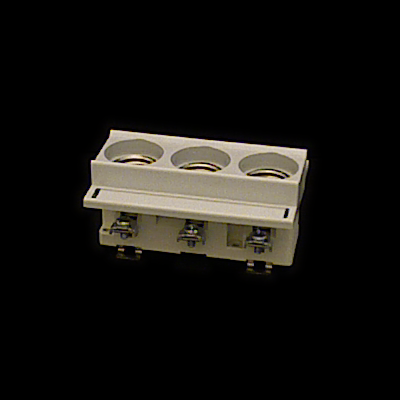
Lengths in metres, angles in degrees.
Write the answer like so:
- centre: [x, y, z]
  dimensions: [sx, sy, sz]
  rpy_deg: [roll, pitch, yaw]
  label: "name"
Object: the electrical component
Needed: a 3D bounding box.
- centre: [0.000, 0.000, 0.648]
  dimensions: [0.121, 0.064, 0.077]
  rpy_deg: [6, 31, 9]
  label: "electrical component"
